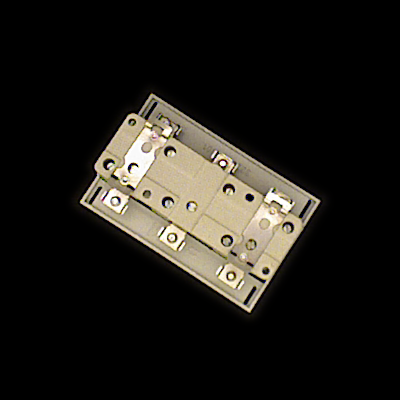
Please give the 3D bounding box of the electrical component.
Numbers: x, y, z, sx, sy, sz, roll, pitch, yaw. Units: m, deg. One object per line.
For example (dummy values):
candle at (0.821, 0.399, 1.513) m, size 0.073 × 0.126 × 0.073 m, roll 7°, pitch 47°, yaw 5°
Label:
electrical component at (0.000, 0.000, 0.635) m, size 0.121 × 0.079 × 0.063 m, roll 32°, pitch -6°, yaw 3°
